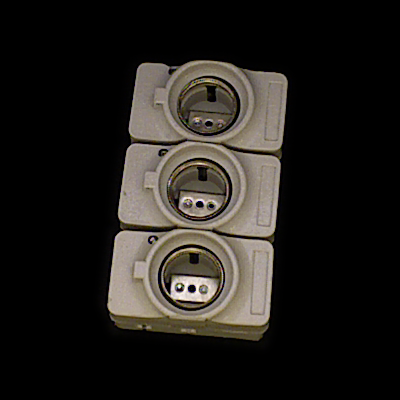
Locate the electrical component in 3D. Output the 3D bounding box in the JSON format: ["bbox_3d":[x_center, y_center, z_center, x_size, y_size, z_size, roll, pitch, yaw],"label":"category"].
[{"bbox_3d":[0.000,0.000,0.631,0.089,0.150,0.062,5,-17,2],"label":"electrical component"}]
